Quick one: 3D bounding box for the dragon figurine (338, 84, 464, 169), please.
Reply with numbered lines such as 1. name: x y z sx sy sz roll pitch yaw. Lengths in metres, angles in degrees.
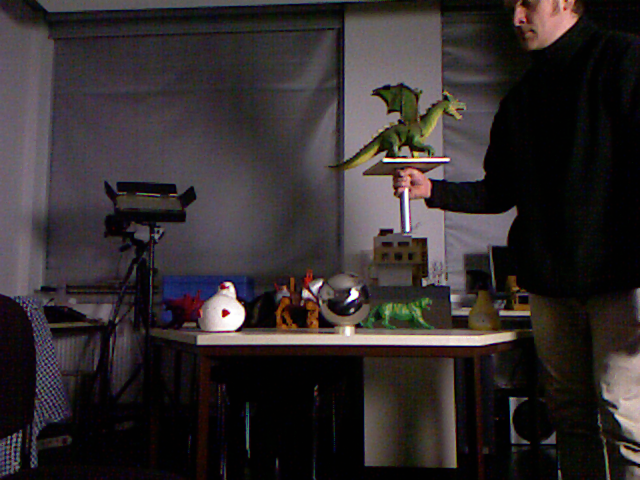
1. dragon figurine: 0.236 -0.356 1.598 0.410 0.243 0.123 -4 1 20
